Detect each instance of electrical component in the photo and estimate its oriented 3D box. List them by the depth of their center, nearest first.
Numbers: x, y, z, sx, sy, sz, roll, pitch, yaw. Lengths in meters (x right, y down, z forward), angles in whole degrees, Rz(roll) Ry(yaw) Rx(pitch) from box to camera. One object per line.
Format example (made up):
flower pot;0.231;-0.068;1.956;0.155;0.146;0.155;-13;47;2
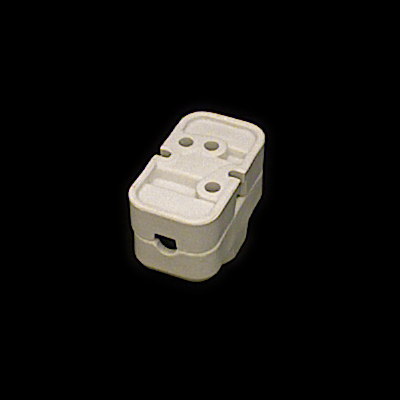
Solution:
electrical component;0.000;0.000;0.637;0.053;0.060;0.095;17;45;17
